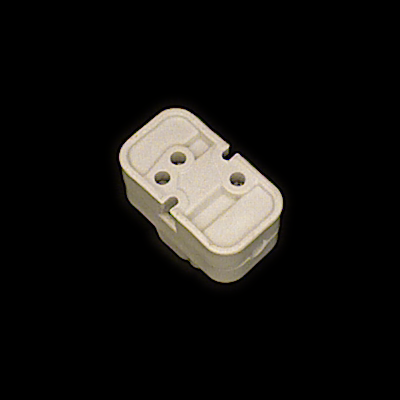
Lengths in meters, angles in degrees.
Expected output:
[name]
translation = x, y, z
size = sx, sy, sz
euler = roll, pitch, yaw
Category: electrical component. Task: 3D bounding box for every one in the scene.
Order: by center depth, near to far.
[electrical component]
translation = 0.000, 0.000, 0.634
size = 0.054, 0.095, 0.059
euler = -41, -19, -18
